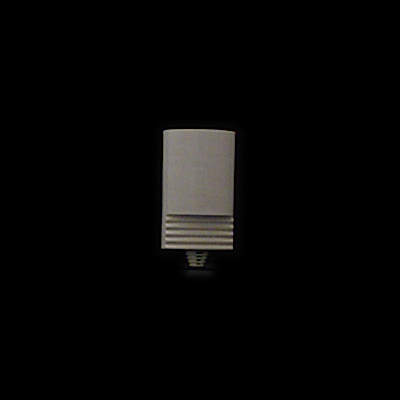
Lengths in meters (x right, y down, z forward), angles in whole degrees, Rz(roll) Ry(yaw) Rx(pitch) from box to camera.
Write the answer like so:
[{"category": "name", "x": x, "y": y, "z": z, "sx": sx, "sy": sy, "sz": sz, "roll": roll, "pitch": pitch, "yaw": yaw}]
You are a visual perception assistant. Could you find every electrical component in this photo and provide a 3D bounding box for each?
[{"category": "electrical component", "x": 0.000, "y": 0.000, "z": 0.647, "sx": 0.043, "sy": 0.081, "sz": 0.043, "roll": 0, "pitch": 0, "yaw": 0}]
